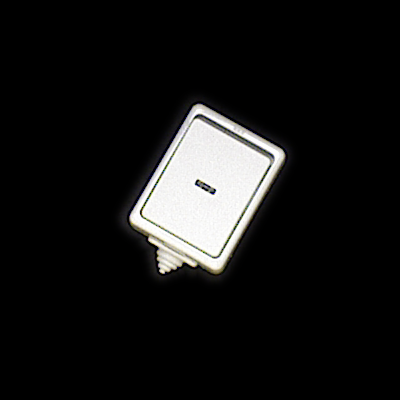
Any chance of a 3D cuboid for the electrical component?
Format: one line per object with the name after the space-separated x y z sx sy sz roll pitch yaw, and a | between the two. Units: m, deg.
0.000 0.000 0.626 0.062 0.096 0.061 29 -6 4 | electrical component
